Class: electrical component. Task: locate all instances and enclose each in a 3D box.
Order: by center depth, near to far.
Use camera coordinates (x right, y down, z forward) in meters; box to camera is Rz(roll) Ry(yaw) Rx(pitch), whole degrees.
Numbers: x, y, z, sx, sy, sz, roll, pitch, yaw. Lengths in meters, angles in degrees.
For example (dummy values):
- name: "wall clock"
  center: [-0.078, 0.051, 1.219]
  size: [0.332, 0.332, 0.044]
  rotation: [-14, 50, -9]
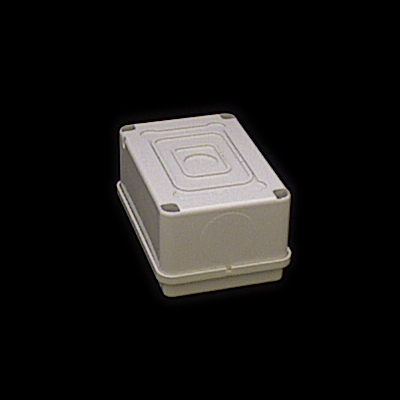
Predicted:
- name: "electrical component"
  center: [0.000, 0.000, 0.635]
  size: [0.078, 0.058, 0.111]
  rotation: [-8, 33, -15]
